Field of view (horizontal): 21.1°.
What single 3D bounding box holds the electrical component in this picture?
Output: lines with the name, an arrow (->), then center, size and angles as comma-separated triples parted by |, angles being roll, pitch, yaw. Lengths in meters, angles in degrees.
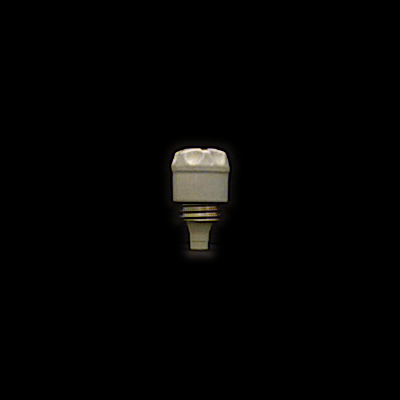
electrical component -> 0.000, 0.000, 0.654 | 0.035, 0.061, 0.035 | 1, 2, 0
